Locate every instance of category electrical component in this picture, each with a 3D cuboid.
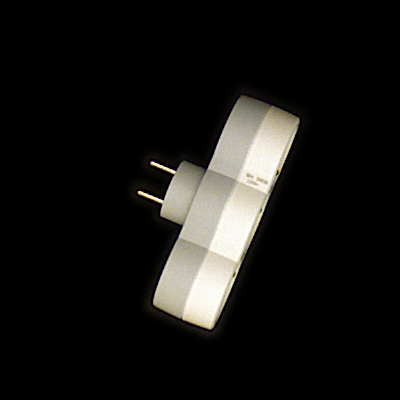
[{"bbox_3d":[0.000,0.000,0.639,0.073,0.138,0.052,23,-5,4],"label":"electrical component"}]
